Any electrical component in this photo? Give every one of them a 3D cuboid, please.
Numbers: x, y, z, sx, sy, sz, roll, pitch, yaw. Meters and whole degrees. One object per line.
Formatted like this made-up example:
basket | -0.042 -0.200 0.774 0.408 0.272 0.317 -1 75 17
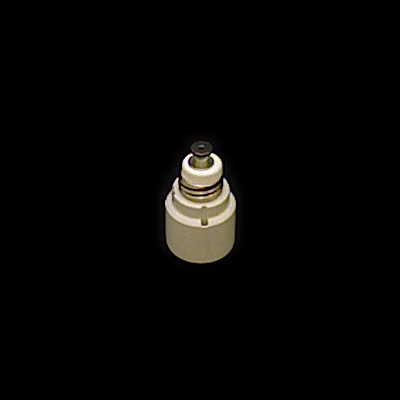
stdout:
electrical component | 0.000 0.000 0.626 0.040 0.079 0.039 1 43 -1
